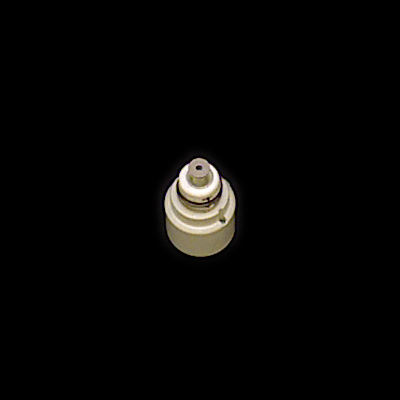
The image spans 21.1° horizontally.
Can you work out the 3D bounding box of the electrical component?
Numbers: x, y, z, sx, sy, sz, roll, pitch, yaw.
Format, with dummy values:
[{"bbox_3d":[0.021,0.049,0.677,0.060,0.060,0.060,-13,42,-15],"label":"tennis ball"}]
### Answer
[{"bbox_3d":[0.000,0.000,0.618,0.040,0.040,0.078,0,-28,1],"label":"electrical component"}]
